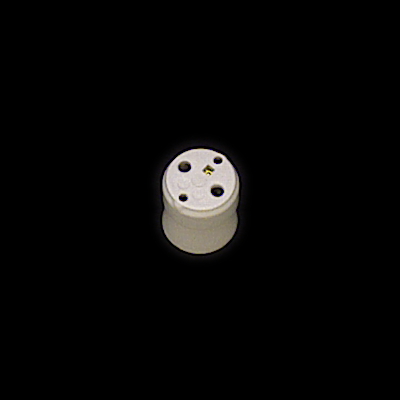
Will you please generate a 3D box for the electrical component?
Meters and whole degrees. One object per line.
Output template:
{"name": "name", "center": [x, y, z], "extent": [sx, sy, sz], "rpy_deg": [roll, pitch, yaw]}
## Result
{"name": "electrical component", "center": [0.000, 0.000, 0.628], "extent": [0.045, 0.045, 0.055], "rpy_deg": [0, -26, 0]}
